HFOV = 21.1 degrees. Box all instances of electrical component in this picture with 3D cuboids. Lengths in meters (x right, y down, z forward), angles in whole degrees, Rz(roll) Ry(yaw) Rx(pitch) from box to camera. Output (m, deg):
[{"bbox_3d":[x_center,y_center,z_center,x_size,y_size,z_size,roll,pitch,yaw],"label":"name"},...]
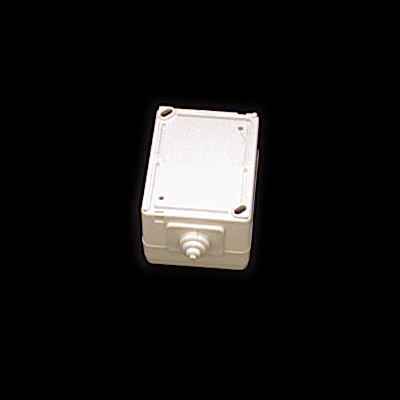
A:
[{"bbox_3d":[0.000,0.000,0.628,0.062,0.096,0.061,4,-37,3],"label":"electrical component"}]
